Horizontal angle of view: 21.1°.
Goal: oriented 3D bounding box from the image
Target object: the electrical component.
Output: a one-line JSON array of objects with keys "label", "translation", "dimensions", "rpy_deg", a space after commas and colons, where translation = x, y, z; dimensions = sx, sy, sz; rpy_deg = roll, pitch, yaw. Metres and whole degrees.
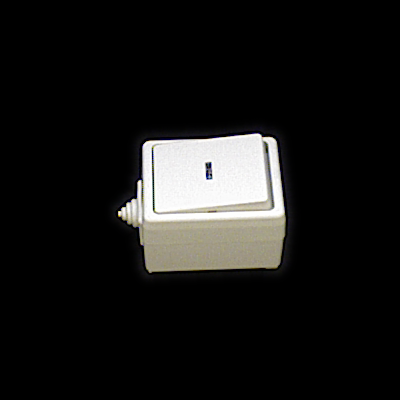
[{"label": "electrical component", "translation": [0.000, 0.000, 0.628], "dimensions": [0.096, 0.061, 0.061], "rpy_deg": [-2, -38, -2]}]
